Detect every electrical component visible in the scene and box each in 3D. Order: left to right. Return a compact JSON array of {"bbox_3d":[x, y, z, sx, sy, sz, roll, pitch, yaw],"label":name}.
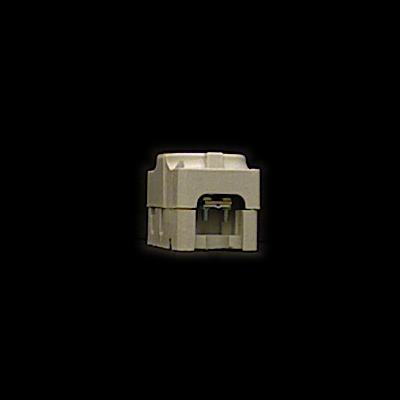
[{"bbox_3d":[0.000,0.000,0.656,0.050,0.056,0.089,1,1,-16],"label":"electrical component"}]
